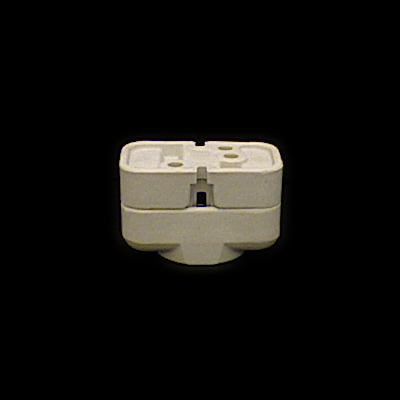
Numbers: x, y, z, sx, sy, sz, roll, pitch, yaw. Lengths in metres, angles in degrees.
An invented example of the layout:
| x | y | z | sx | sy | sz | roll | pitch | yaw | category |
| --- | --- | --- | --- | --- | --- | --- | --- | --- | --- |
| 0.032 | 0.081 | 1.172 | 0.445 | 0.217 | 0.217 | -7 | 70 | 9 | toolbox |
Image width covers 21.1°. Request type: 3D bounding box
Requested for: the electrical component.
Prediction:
| x | y | z | sx | sy | sz | roll | pitch | yaw | category |
| --- | --- | --- | --- | --- | --- | --- | --- | --- | --- |
| 0.000 | 0.000 | 0.648 | 0.095 | 0.060 | 0.053 | 0 | 22 | -3 | electrical component |
